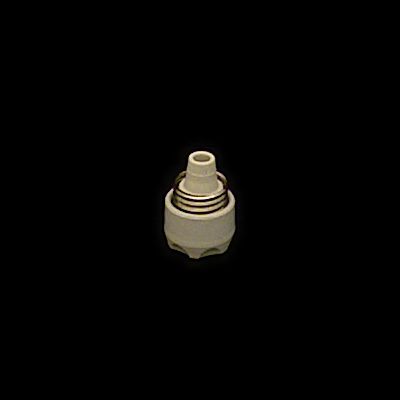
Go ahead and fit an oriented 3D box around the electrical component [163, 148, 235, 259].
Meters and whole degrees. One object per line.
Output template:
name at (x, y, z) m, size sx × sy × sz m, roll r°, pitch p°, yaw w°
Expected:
electrical component at (0.000, 0.000, 0.640) m, size 0.043 × 0.063 × 0.043 m, roll 1°, pitch 33°, yaw 0°
